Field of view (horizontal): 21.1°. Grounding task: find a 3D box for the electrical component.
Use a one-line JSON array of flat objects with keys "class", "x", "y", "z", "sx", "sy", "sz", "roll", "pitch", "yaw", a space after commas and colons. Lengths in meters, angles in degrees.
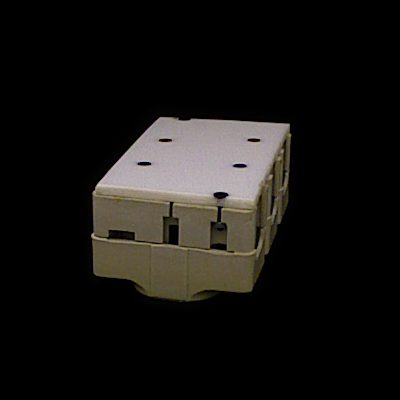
[{"class": "electrical component", "x": 0.000, "y": 0.000, "z": 0.642, "sx": 0.089, "sy": 0.063, "sz": 0.147, "roll": 5, "pitch": 21, "yaw": 11}]
